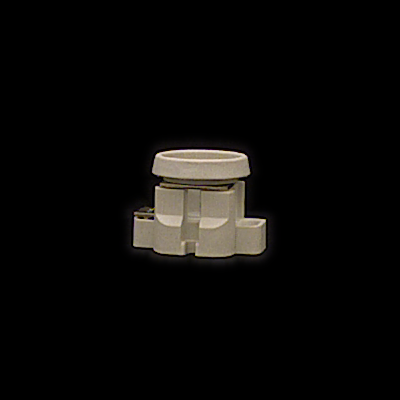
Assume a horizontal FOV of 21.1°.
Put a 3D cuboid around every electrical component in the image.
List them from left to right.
[{"bbox_3d":[0.000,0.000,0.643,0.078,0.057,0.057,3,11,12],"label":"electrical component"}]
